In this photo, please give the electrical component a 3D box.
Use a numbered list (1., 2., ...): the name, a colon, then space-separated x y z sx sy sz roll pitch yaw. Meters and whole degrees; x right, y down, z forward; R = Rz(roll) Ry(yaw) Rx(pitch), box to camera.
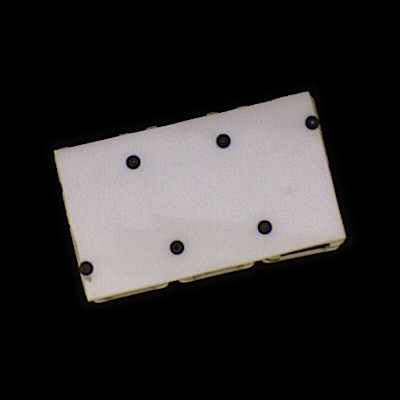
1. electrical component: 0.000 0.000 0.631 0.150 0.089 0.061 -13 -6 -2
